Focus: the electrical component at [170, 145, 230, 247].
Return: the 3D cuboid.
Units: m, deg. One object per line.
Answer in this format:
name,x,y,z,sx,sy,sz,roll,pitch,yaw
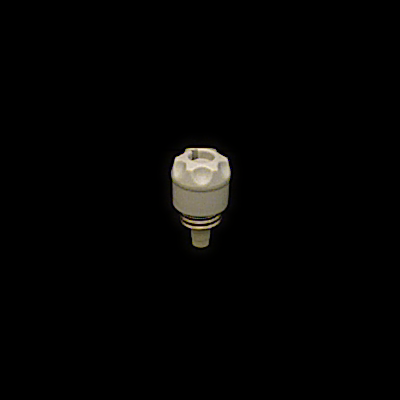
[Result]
electrical component,0.000,0.000,0.643,0.035,0.062,0.034,1,32,0
